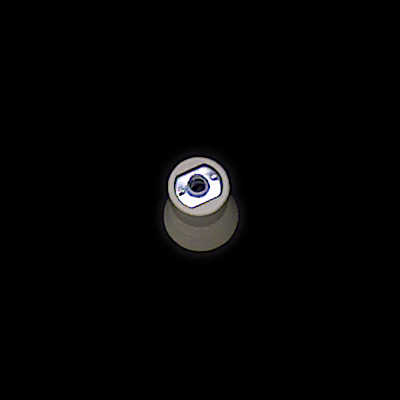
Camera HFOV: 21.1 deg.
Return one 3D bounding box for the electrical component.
[{"bbox_3d":[0.000,0.000,0.625,0.044,0.044,0.065,0,-18,1],"label":"electrical component"}]
